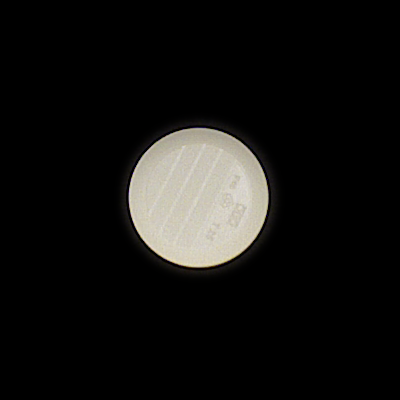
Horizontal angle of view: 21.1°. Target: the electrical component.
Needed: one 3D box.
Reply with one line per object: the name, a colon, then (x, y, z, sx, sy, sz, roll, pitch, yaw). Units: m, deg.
electrical component: (0.000, 0.000, 0.631, 0.080, 0.080, 0.050, 0, -6, 0)
